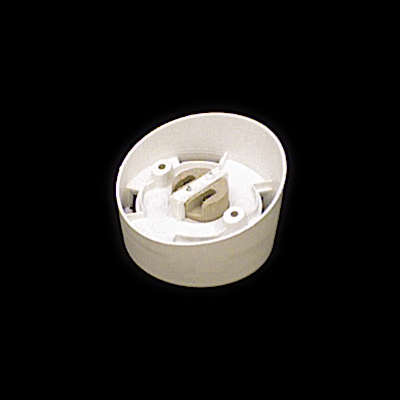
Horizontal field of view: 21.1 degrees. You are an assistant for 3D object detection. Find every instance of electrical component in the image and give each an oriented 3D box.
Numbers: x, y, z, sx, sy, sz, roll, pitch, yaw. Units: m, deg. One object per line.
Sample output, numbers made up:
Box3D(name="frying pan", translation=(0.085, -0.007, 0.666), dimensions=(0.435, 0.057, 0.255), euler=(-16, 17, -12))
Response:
Box3D(name="electrical component", translation=(0.000, 0.000, 0.630), dimensions=(0.099, 0.065, 0.097), euler=(1, 41, 0))
